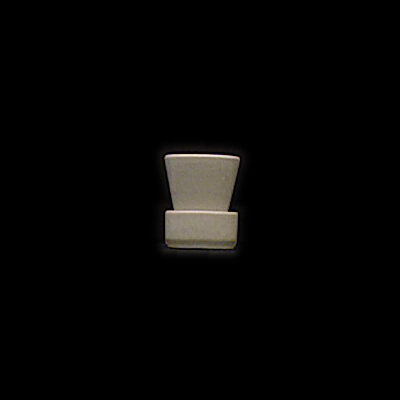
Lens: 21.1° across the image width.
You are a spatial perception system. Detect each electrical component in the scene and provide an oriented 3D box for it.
[{"bbox_3d":[0.000,0.000,0.650,0.045,0.055,0.045,2,0,0],"label":"electrical component"}]
